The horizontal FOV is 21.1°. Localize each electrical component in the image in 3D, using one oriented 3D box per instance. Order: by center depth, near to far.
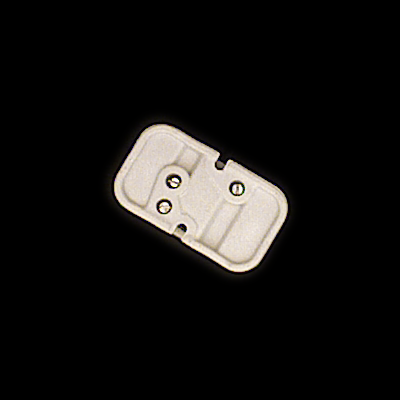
[{"bbox_3d":[0.000,0.000,0.636,0.095,0.054,0.059,30,-4,3],"label":"electrical component"}]
